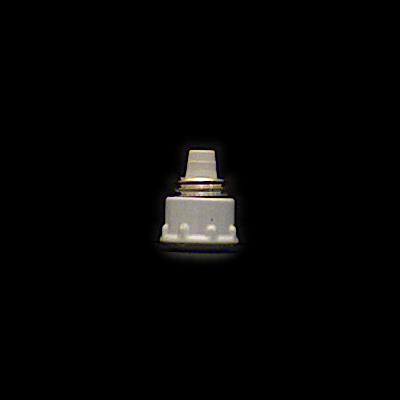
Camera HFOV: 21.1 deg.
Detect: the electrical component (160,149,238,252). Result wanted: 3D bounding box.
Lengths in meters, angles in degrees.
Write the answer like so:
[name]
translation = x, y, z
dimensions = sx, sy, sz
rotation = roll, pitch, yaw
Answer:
[electrical component]
translation = 0.000, 0.000, 0.655
dimensions = 0.048, 0.062, 0.048
rotation = 2, 3, 0
